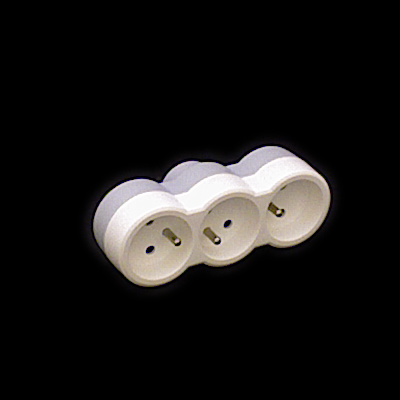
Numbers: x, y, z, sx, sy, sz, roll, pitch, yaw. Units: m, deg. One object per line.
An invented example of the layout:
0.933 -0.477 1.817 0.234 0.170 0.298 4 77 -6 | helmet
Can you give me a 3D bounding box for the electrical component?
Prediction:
0.000 0.000 0.635 0.138 0.053 0.073 -15 33 -24 | electrical component
